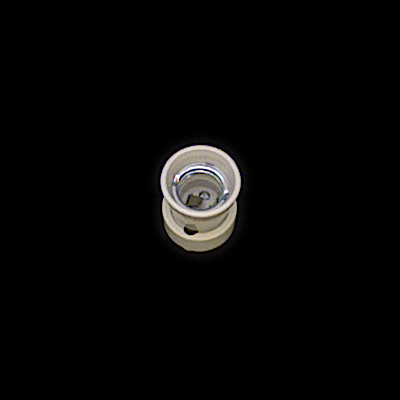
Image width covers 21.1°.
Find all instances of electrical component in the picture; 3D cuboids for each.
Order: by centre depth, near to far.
[{"bbox_3d":[0.000,0.000,0.629,0.045,0.045,0.055,0,-27,-1],"label":"electrical component"}]
